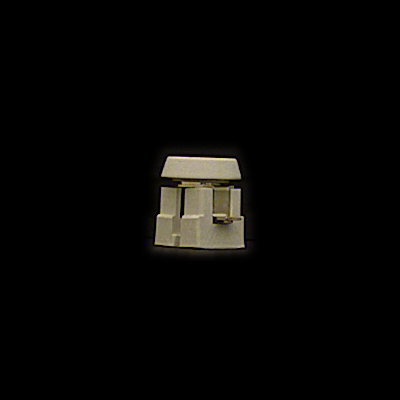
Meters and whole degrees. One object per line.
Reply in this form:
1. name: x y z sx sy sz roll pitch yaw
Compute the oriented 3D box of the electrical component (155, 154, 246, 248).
1. electrical component: 0.000 0.000 0.657 0.049 0.055 0.066 -3 4 -40
